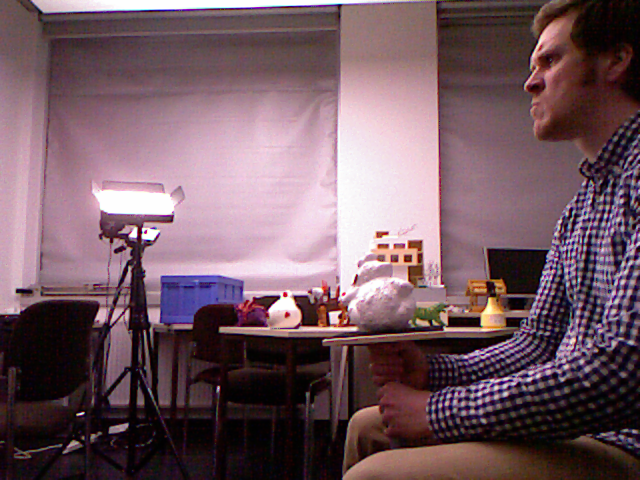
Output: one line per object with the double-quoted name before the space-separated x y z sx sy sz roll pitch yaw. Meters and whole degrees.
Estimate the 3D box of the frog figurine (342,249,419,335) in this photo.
"frog figurine" 0.109 0.095 0.952 0.137 0.160 0.123 -10 -6 29
